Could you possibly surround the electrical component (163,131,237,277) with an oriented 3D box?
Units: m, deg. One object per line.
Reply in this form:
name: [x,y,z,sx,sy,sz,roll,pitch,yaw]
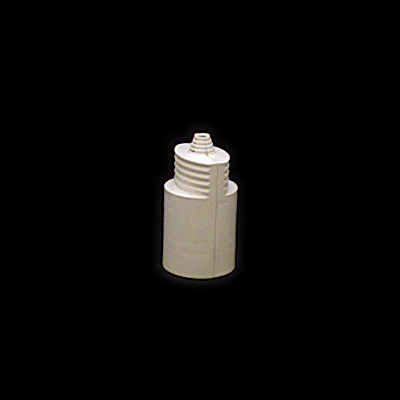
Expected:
electrical component: [0.000,0.000,0.634,0.043,0.082,0.042,1,21,0]
